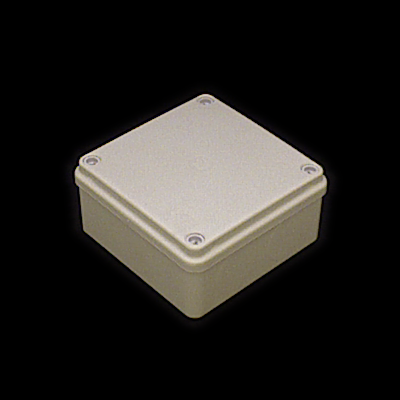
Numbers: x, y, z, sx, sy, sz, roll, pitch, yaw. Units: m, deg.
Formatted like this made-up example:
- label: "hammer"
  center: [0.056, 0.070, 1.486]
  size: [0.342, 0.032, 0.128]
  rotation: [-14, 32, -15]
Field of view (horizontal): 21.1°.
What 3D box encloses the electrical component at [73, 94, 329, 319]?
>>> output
- label: "electrical component"
  center: [0.000, 0.000, 0.634]
  size: [0.108, 0.057, 0.108]
  rotation: [-31, 51, -31]
